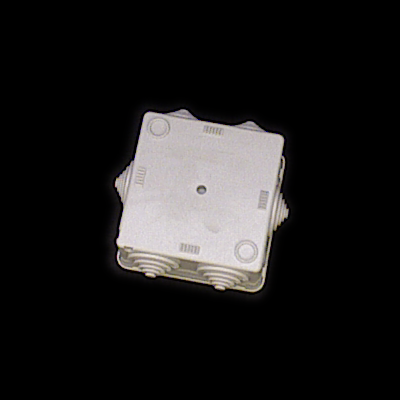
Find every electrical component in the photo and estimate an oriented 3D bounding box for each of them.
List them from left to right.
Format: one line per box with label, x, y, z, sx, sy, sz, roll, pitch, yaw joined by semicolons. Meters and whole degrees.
electrical component;0.000;0.000;0.631;0.100;0.100;0.048;10;-16;3
